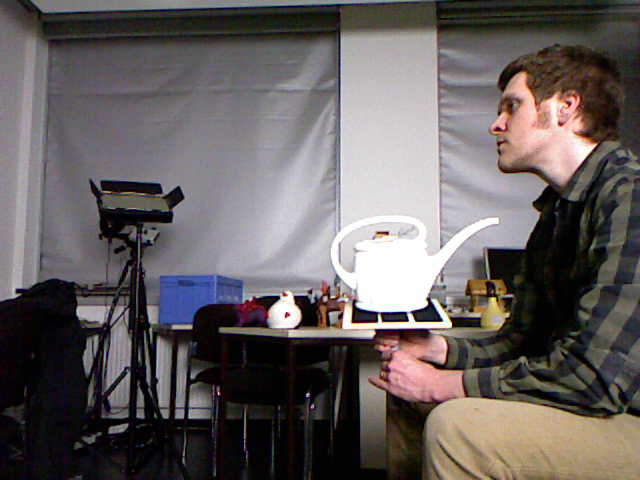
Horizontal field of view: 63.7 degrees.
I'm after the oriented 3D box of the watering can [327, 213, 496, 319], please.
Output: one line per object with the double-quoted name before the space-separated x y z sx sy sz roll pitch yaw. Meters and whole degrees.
"watering can" 0.189 0.055 1.059 0.348 0.223 0.105 -2 10 0
